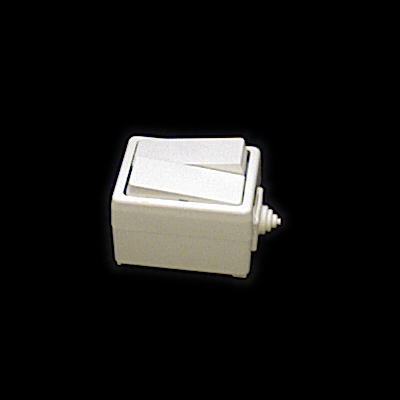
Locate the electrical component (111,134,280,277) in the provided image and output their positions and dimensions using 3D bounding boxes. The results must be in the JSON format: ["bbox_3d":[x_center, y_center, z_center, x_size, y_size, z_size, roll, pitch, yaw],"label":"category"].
[{"bbox_3d":[0.000,0.000,0.631,0.096,0.061,0.061,5,42,5],"label":"electrical component"}]
